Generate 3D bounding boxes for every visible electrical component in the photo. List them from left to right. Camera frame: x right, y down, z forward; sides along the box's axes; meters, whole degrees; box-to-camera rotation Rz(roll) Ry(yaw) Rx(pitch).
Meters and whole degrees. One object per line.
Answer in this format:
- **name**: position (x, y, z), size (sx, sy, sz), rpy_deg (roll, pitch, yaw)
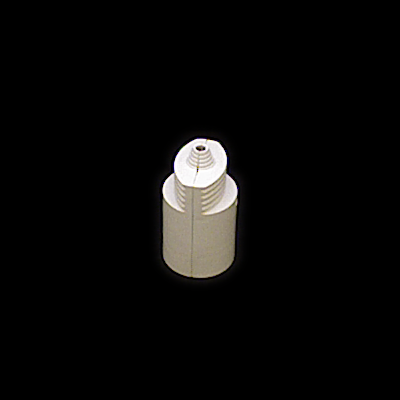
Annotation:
- **electrical component**: position (0.000, 0.000, 0.623), size (0.043, 0.082, 0.042), rpy_deg (1, 42, 0)
